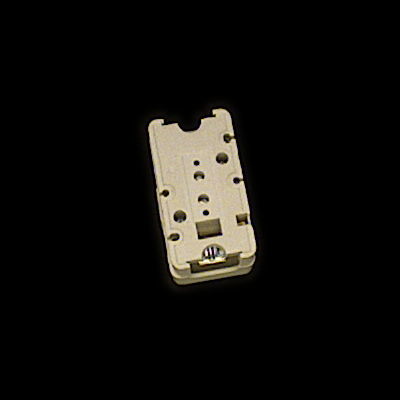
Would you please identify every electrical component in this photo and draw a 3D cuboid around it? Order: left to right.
[{"bbox_3d":[0.000,0.000,0.636,0.050,0.090,0.055,-10,-15,-3],"label":"electrical component"}]
